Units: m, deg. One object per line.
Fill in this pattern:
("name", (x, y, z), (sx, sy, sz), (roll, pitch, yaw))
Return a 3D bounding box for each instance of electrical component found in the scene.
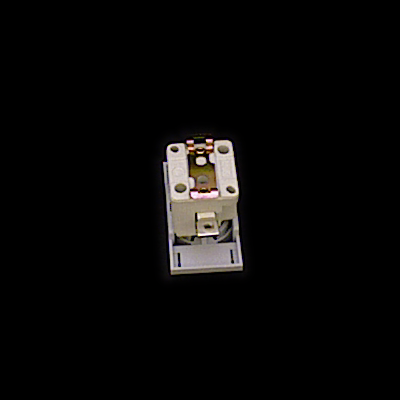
("electrical component", (0.000, 0.000, 0.627), (0.042, 0.080, 0.064), (-4, -37, -3))
